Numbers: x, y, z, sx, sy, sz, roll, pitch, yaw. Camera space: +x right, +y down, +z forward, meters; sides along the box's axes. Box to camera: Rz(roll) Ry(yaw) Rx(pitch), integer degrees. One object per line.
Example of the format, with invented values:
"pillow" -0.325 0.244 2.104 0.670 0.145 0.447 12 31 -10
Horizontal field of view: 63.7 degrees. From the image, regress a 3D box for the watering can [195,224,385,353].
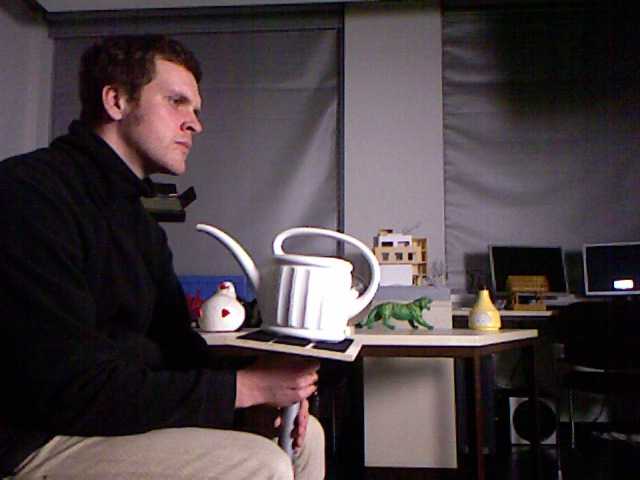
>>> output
"watering can" -0.064 0.080 0.907 0.348 0.225 0.104 6 -2 11
